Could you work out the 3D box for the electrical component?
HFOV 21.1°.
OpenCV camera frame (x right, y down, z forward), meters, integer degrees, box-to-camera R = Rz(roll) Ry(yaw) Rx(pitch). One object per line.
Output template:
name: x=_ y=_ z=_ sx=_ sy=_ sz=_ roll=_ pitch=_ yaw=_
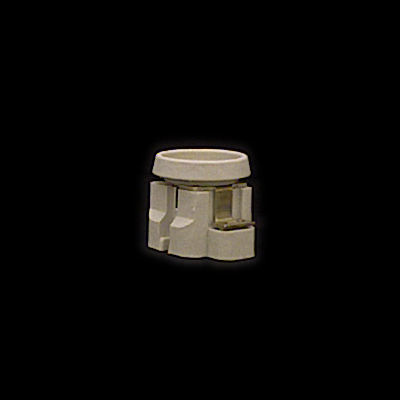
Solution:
electrical component: x=0.000 y=0.000 z=0.643 sx=0.058 sy=0.057 sz=0.078 roll=-7 pitch=14 yaw=-37
